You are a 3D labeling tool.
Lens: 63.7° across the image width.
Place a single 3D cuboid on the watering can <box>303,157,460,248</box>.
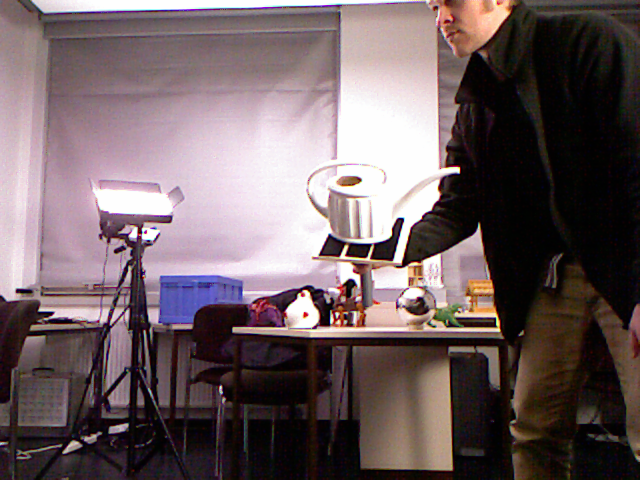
[{"bbox_3d":[0.132,-0.083,1.167,0.348,0.219,0.106,4,35,14],"label":"watering can"}]
